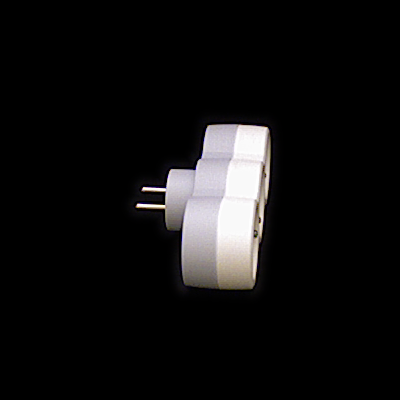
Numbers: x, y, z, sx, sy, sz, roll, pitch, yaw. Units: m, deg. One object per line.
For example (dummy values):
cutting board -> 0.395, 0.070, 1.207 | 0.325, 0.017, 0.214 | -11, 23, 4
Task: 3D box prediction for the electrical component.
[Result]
electrical component -> 0.000, 0.000, 0.634 | 0.074, 0.053, 0.137 | 3, 32, 7
